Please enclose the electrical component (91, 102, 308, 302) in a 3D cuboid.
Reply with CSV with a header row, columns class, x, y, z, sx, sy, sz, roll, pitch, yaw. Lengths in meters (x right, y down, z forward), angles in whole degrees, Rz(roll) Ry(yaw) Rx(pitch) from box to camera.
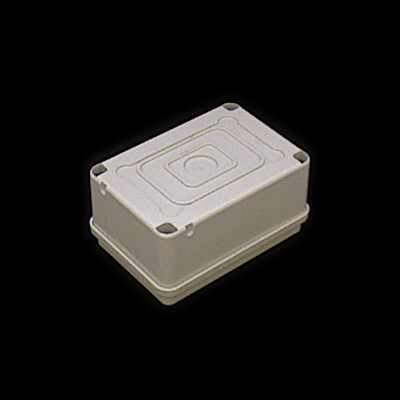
class,x,y,z,sx,sy,sz,roll,pitch,yaw
electrical component,0.000,0.000,0.632,0.113,0.057,0.077,-28,49,-29
